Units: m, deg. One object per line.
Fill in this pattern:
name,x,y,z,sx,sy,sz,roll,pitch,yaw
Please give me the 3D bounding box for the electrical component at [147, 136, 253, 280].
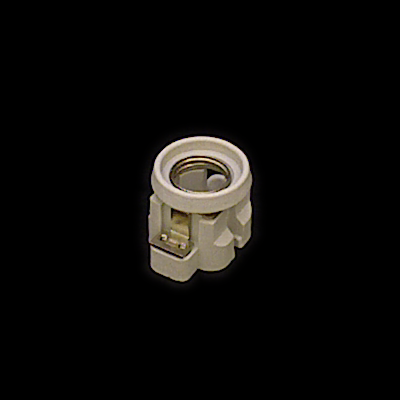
electrical component,0.000,0.000,0.630,0.057,0.057,0.078,22,46,22
